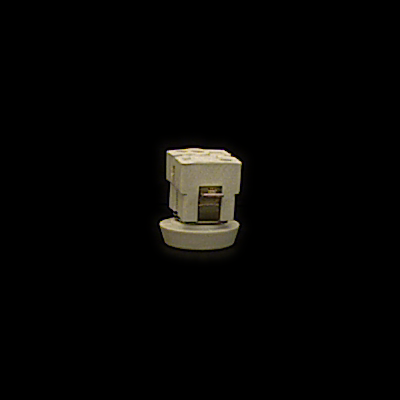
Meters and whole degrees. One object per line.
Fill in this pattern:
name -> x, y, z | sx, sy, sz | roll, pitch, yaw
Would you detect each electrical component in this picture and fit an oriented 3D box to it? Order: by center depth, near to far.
electrical component -> 0.000, 0.000, 0.652 | 0.049, 0.056, 0.065 | -1, 13, -14
